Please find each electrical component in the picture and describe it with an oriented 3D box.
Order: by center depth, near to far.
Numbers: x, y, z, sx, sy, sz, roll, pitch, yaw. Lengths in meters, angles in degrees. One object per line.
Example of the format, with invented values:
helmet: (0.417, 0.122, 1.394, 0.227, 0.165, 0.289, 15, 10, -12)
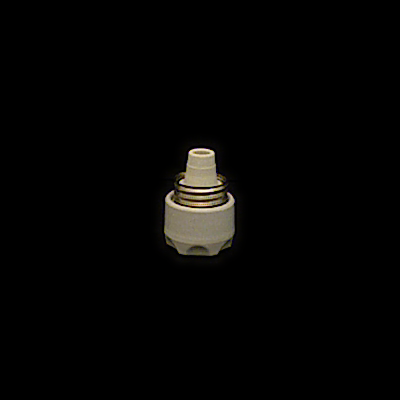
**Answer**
electrical component: (0.000, 0.000, 0.647, 0.043, 0.063, 0.043, 2, 21, 0)
